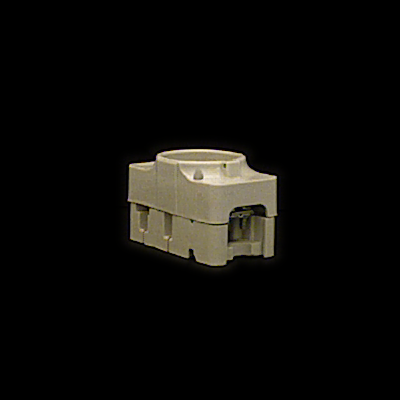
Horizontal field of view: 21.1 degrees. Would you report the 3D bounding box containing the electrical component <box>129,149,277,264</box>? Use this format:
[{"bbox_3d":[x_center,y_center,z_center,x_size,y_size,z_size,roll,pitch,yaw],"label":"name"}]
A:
[{"bbox_3d":[0.000,0.000,0.651,0.050,0.056,0.088,-8,14,-38],"label":"electrical component"}]
